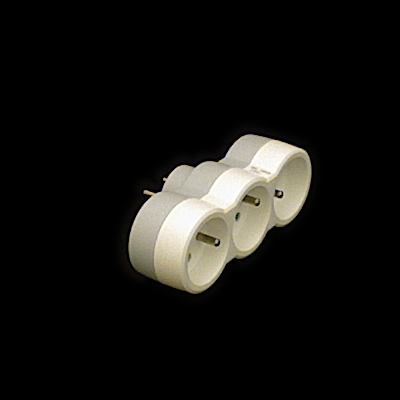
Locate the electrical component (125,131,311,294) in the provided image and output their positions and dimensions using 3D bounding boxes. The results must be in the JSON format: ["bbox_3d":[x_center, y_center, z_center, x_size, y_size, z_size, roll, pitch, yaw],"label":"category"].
[{"bbox_3d":[0.000,0.000,0.646,0.072,0.053,0.138,20,37,31],"label":"electrical component"}]
